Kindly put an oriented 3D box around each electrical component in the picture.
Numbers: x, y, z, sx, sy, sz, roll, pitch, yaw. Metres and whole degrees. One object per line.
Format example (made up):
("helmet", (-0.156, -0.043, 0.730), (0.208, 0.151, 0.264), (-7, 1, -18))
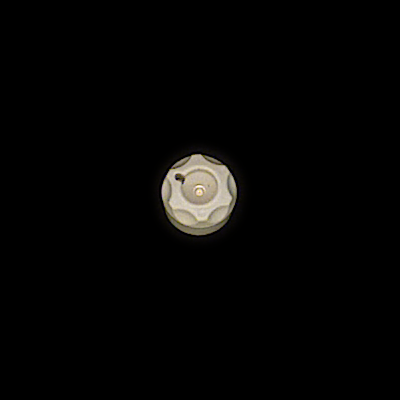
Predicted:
("electrical component", (0.000, 0.000, 0.634), (0.043, 0.043, 0.061), (0, -16, -1))
